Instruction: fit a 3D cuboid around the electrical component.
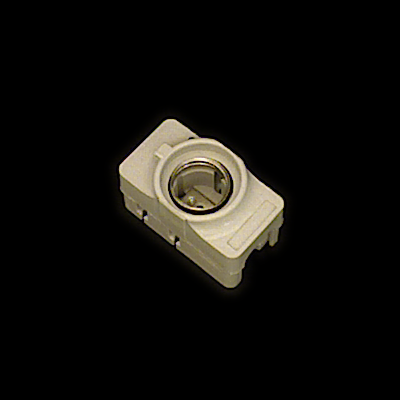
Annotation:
[{"bbox_3d":[0.000,0.000,0.636,0.089,0.050,0.055,37,-21,16],"label":"electrical component"}]
